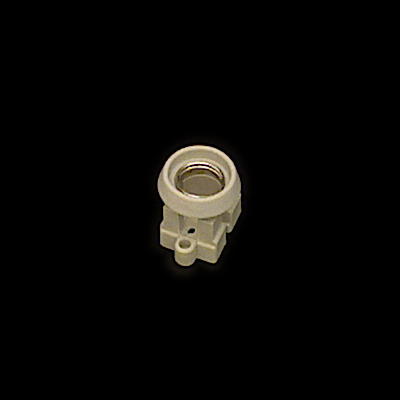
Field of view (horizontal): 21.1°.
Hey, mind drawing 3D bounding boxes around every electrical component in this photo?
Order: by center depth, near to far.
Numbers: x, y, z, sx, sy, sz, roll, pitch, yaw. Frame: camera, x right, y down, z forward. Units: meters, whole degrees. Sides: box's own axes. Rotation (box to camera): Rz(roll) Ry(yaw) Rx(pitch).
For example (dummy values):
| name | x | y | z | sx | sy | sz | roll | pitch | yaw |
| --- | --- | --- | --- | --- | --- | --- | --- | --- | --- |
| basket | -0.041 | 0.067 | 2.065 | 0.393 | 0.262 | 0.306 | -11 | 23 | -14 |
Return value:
| name | x | y | z | sx | sy | sz | roll | pitch | yaw |
| --- | --- | --- | --- | --- | --- | --- | --- | --- | --- |
| electrical component | 0.000 | 0.000 | 0.638 | 0.048 | 0.066 | 0.056 | 18 | -35 | 11 |
